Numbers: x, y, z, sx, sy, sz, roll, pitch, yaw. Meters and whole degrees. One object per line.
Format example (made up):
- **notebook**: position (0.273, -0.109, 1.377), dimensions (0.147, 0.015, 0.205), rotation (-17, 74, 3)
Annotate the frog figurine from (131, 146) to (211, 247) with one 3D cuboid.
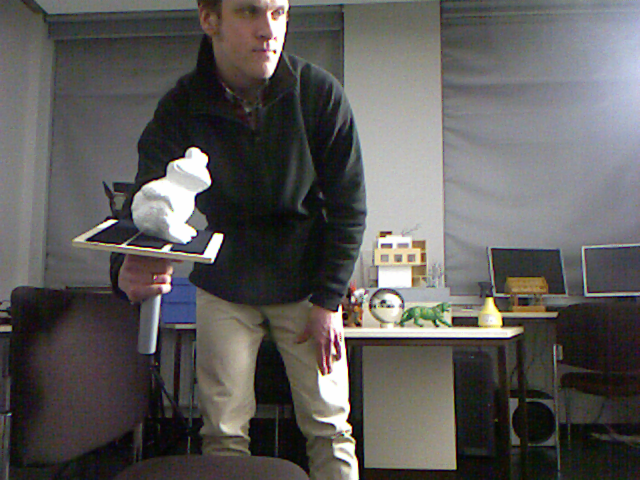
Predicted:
- **frog figurine**: position (-0.250, -0.081, 0.868), dimensions (0.123, 0.158, 0.139), rotation (12, 12, 14)
